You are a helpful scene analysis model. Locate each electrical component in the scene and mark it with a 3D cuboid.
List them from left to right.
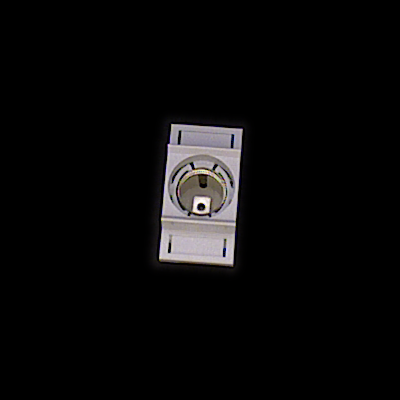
[{"bbox_3d":[0.000,0.000,0.623,0.042,0.081,0.063,5,-17,1],"label":"electrical component"}]
